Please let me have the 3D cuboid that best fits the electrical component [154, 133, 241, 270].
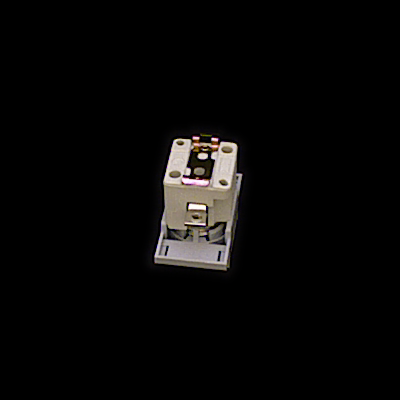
[{"bbox_3d":[0.000,0.000,0.630,0.042,0.064,0.080,5,42,5],"label":"electrical component"}]
